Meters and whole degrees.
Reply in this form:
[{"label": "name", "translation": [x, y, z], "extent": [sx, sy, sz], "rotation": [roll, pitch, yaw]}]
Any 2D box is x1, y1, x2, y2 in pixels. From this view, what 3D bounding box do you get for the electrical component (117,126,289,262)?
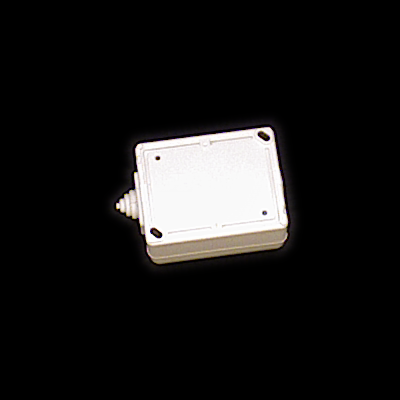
[{"label": "electrical component", "translation": [0.000, 0.000, 0.629], "extent": [0.096, 0.062, 0.060], "rotation": [-8, -17, -2]}]
